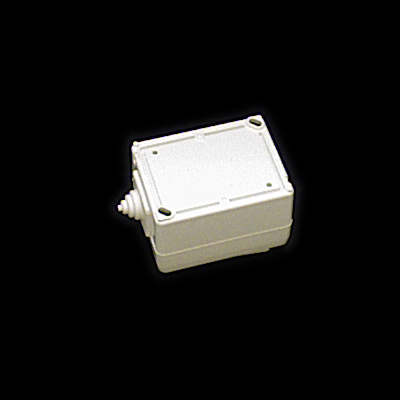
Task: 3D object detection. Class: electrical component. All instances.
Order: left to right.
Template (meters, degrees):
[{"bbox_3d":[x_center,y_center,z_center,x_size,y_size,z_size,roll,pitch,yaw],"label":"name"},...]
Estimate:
[{"bbox_3d":[0.000,0.000,0.625,0.096,0.061,0.061,-13,-36,-11],"label":"electrical component"}]
